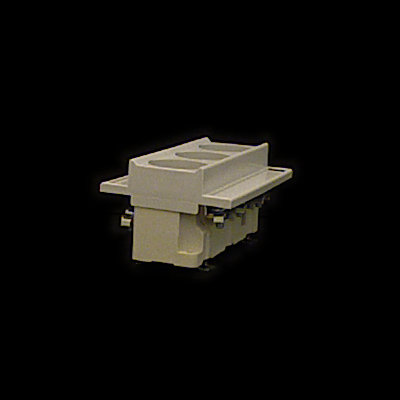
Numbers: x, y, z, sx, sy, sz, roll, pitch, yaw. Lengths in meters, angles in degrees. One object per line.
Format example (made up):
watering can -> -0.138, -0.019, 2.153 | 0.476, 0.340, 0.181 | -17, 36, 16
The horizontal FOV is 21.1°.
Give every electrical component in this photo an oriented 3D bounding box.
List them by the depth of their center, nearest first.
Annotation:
electrical component -> 0.000, 0.000, 0.658 | 0.078, 0.063, 0.121 | 7, 12, 20
